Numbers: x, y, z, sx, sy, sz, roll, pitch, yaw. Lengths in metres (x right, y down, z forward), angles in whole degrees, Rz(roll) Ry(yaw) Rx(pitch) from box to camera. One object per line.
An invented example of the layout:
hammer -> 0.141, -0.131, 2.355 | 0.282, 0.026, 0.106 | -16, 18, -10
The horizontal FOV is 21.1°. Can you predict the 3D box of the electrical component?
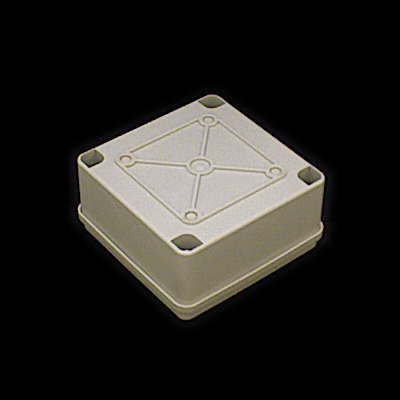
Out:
electrical component -> 0.000, 0.000, 0.630 | 0.108, 0.056, 0.108 | -28, 50, -28
